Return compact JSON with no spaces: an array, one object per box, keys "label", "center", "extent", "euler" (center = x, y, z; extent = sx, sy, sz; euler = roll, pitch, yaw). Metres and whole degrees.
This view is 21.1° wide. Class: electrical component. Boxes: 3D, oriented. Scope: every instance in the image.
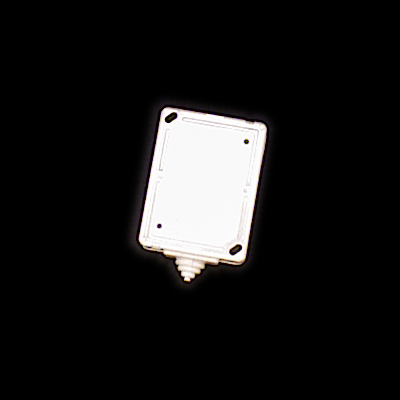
[{"label":"electrical component","center":[0.000,0.000,0.629],"extent":[0.062,0.096,0.061],"euler":[10,-6,2]}]
